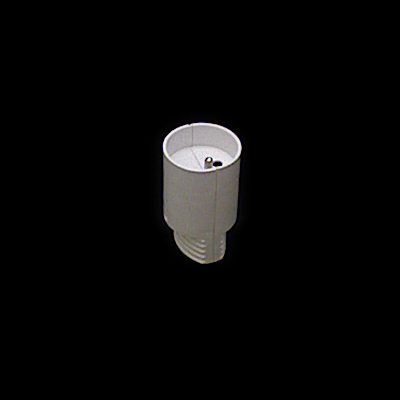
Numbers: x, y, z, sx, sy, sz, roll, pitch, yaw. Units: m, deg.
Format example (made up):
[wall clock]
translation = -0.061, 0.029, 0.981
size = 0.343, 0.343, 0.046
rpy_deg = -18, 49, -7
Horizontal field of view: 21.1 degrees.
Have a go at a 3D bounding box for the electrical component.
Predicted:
[electrical component]
translation = 0.000, 0.000, 0.622
size = 0.043, 0.082, 0.042
rpy_deg = 0, 43, 0
